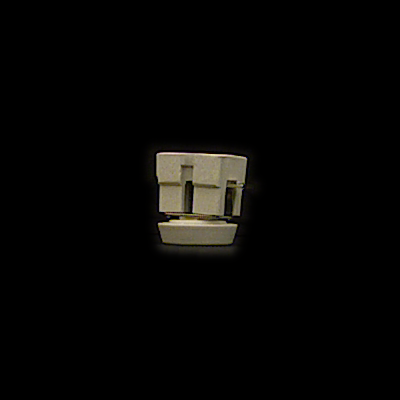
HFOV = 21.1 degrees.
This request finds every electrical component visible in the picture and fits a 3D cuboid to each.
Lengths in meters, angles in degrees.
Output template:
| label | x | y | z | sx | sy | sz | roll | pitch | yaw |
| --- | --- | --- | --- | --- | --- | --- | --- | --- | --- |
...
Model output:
| label | x | y | z | sx | sy | sz | roll | pitch | yaw |
| --- | --- | --- | --- | --- | --- | --- | --- | --- | --- |
| electrical component | 0.000 | 0.000 | 0.656 | 0.066 | 0.055 | 0.049 | 3 | 1 | 28 |
